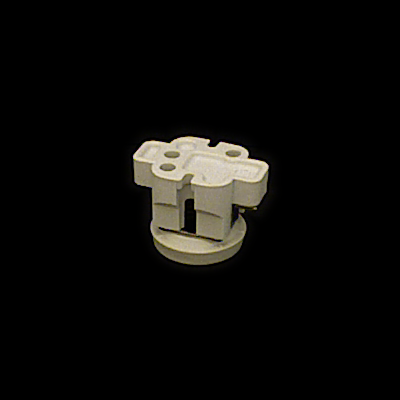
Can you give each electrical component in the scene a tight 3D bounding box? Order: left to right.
[{"bbox_3d":[0.000,0.000,0.643,0.078,0.057,0.057,12,33,14],"label":"electrical component"}]
